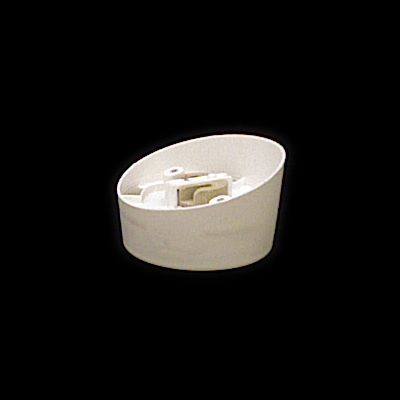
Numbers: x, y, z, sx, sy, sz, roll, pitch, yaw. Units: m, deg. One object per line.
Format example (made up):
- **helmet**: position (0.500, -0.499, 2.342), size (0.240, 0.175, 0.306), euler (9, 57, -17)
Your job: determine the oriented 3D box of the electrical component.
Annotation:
- **electrical component**: position (0.000, 0.000, 0.639), size (0.099, 0.065, 0.097), euler (2, 20, 0)
